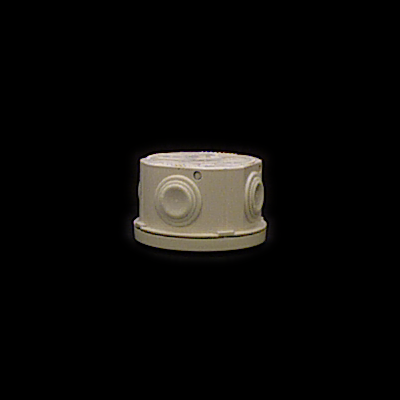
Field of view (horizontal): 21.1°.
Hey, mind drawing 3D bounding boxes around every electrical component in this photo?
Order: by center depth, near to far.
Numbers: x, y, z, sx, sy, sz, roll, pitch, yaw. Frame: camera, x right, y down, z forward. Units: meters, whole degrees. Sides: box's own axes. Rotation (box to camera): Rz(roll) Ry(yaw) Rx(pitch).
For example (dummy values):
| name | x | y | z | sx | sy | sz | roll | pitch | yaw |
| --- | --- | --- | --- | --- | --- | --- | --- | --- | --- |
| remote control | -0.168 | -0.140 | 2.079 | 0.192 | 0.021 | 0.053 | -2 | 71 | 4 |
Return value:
| name | x | y | z | sx | sy | sz | roll | pitch | yaw |
| --- | --- | --- | --- | --- | --- | --- | --- | --- | --- |
| electrical component | 0.000 | 0.000 | 0.646 | 0.080 | 0.051 | 0.079 | 1 | 10 | 0 |
